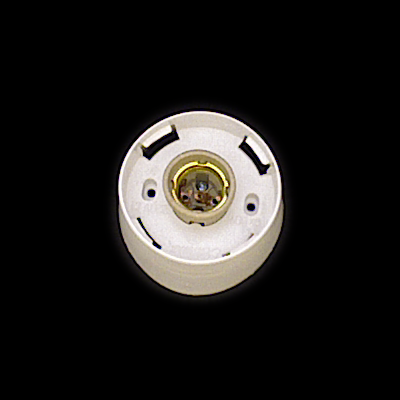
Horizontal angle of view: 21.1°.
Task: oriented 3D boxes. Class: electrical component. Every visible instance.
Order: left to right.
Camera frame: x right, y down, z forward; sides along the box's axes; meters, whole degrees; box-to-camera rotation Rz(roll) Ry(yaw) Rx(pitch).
[{"bbox_3d":[0.000,0.000,0.625,0.099,0.099,0.064,0,-17,0],"label":"electrical component"}]
